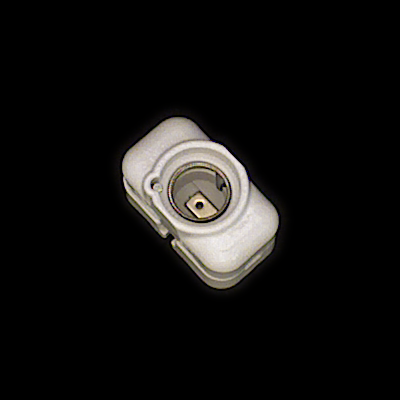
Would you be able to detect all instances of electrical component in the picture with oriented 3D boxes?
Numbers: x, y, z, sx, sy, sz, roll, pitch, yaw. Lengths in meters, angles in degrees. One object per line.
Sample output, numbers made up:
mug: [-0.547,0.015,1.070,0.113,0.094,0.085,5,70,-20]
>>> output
electrical component: [0.000,0.000,0.633,0.054,0.095,0.059,-42,-12,-11]
